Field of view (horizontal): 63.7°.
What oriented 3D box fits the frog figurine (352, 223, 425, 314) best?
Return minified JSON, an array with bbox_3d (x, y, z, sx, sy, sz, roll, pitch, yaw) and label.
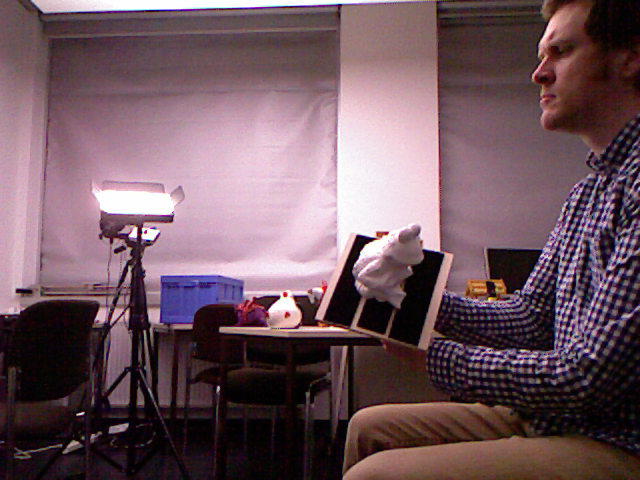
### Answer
[{"bbox_3d":[0.115,0.033,0.882,0.124,0.140,0.156,28,-28,24],"label":"frog figurine"}]
